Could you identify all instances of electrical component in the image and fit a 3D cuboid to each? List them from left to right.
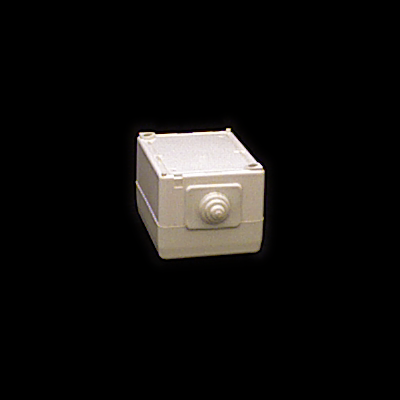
[{"bbox_3d":[0.000,0.000,0.637,0.062,0.061,0.095,-4,22,-13],"label":"electrical component"}]
